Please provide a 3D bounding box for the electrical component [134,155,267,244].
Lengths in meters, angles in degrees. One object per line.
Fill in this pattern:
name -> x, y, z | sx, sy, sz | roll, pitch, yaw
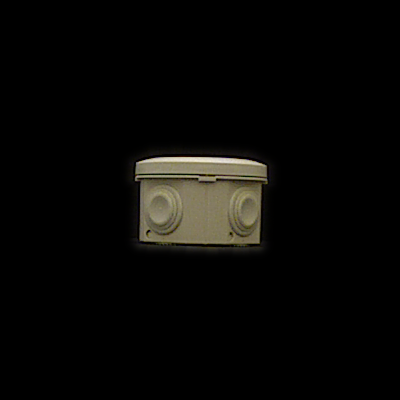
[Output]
electrical component -> 0.000, 0.000, 0.652 | 0.080, 0.051, 0.080 | 2, 0, 0
